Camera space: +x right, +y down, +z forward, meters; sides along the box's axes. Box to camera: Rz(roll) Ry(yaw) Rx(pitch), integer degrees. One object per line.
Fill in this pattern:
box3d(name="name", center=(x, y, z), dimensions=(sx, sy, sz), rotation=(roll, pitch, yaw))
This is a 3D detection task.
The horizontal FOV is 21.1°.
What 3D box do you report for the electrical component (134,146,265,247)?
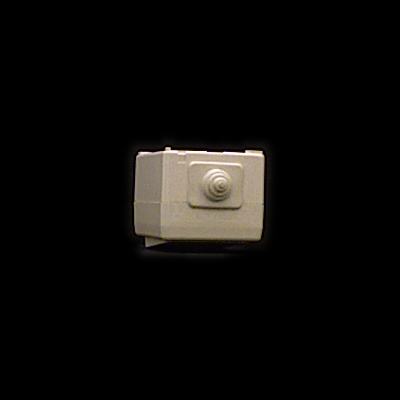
box3d(name="electrical component", center=(0.000, 0.000, 0.647), dimensions=(0.062, 0.061, 0.096), rotation=(1, 1, -16))
